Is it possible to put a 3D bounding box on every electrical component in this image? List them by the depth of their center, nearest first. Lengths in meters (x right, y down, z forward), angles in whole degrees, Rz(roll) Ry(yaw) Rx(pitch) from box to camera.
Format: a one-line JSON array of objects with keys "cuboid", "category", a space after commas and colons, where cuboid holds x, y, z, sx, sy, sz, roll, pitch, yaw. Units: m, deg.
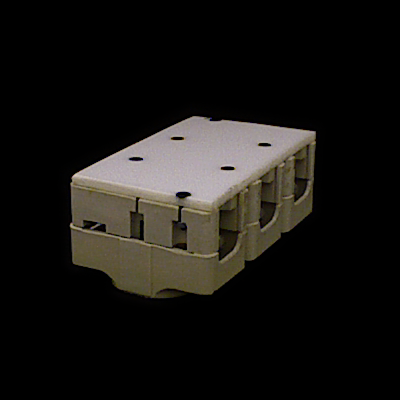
[{"cuboid": [0.000, 0.000, 0.642, 0.089, 0.063, 0.148, 11, 23, 25], "category": "electrical component"}]
